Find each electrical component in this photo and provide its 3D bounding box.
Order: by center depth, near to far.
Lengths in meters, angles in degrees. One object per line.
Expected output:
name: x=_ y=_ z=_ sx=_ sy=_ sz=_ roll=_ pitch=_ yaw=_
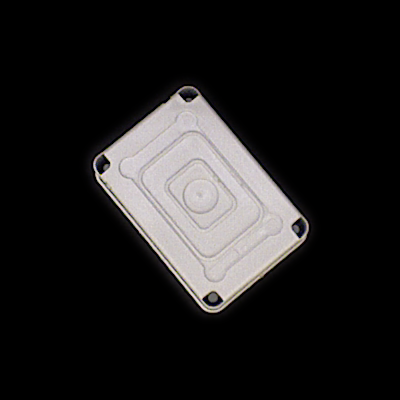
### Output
electrical component: x=0.000 y=0.000 z=0.629 sx=0.078 sy=0.113 sz=0.057 roll=-39 pitch=-5 yaw=-4
